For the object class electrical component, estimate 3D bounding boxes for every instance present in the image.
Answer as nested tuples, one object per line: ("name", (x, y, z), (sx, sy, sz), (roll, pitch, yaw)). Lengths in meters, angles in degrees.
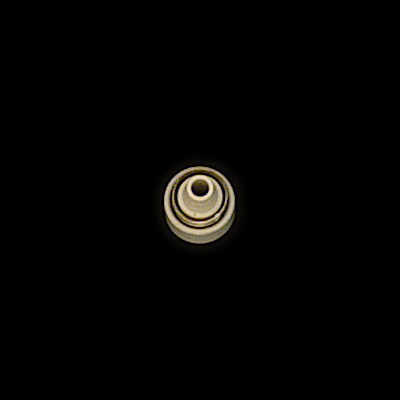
("electrical component", (0.000, 0.000, 0.633), (0.043, 0.043, 0.061), (0, -15, 0))
